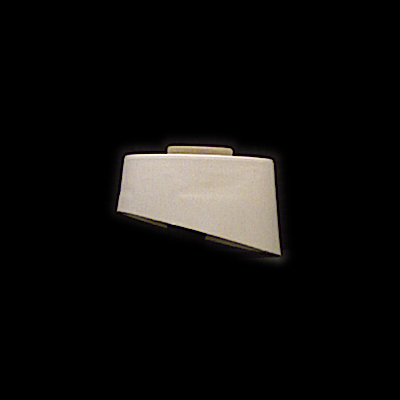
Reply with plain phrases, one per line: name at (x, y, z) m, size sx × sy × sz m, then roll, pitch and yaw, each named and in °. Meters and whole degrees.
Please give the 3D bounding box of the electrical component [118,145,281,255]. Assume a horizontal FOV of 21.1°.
electrical component at (0.000, 0.000, 0.648) m, size 0.099 × 0.064 × 0.099 m, roll 2°, pitch 0°, yaw 0°
